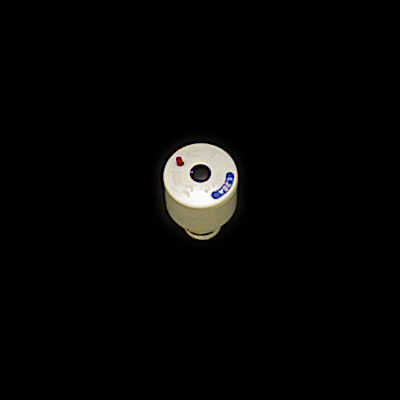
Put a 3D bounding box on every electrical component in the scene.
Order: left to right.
[{"bbox_3d":[0.000,0.000,0.619,0.040,0.040,0.078,0,-28,1],"label":"electrical component"}]
